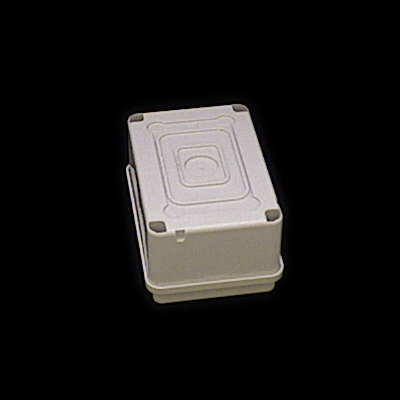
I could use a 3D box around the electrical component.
[{"bbox_3d":[0.000,0.000,0.632,0.078,0.057,0.112,-6,42,-7],"label":"electrical component"}]
